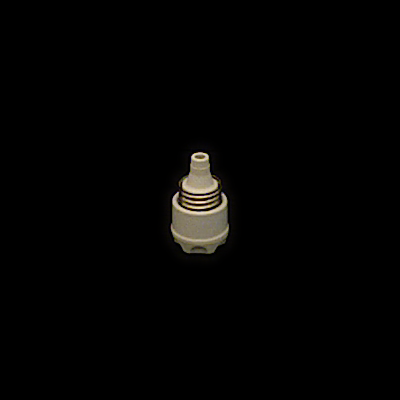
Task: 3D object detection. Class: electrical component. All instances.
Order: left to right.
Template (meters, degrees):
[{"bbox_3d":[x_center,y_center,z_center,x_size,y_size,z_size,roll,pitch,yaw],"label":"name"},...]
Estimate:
[{"bbox_3d":[0.000,0.000,0.645,0.035,0.062,0.034,1,31,0],"label":"electrical component"}]
